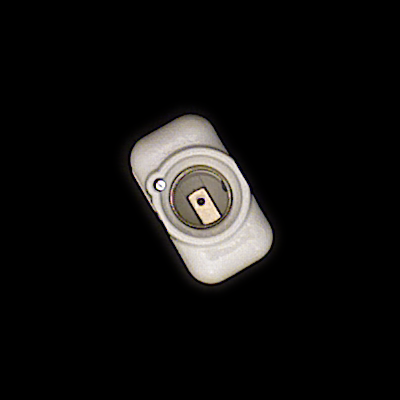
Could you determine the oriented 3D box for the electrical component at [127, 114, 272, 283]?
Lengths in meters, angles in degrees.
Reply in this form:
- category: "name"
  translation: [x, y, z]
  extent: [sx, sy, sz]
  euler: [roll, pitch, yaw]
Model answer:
- category: "electrical component"
  translation: [0.000, 0.000, 0.635]
  extent: [0.054, 0.095, 0.059]
  euler: [-31, -5, -2]
